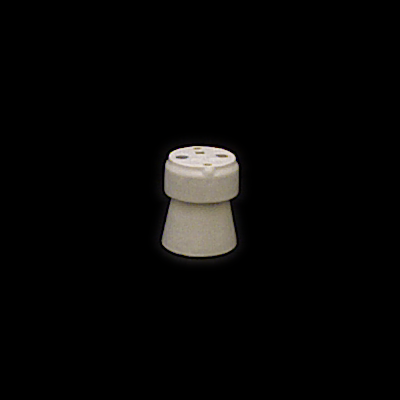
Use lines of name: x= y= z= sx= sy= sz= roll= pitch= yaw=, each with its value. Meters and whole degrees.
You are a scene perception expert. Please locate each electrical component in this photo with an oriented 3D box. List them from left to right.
electrical component: x=0.000 y=0.000 z=0.640 sx=0.045 sy=0.056 sz=0.044 roll=1 pitch=22 yaw=0
